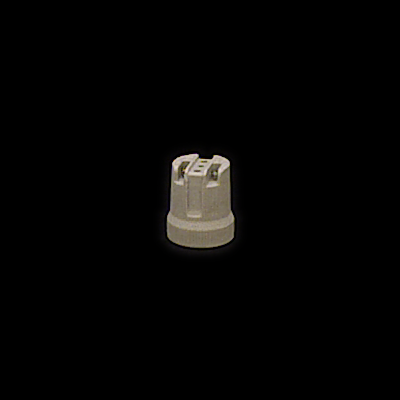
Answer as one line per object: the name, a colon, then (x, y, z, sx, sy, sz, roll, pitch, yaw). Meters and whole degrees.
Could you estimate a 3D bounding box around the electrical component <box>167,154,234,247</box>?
electrical component: (0.000, 0.000, 0.641, 0.040, 0.046, 0.040, 1, 21, 0)
